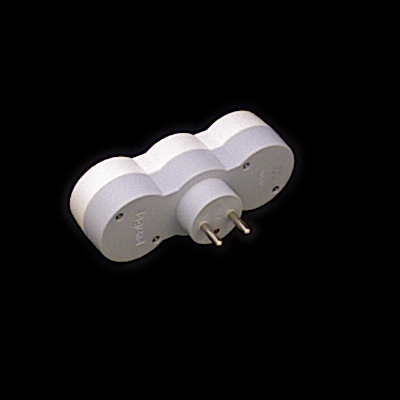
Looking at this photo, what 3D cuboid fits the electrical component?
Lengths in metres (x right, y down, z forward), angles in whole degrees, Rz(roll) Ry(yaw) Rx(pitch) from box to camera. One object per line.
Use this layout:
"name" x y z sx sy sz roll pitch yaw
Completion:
"electrical component" 0.000 0.000 0.635 0.138 0.052 0.073 -22 49 -25
